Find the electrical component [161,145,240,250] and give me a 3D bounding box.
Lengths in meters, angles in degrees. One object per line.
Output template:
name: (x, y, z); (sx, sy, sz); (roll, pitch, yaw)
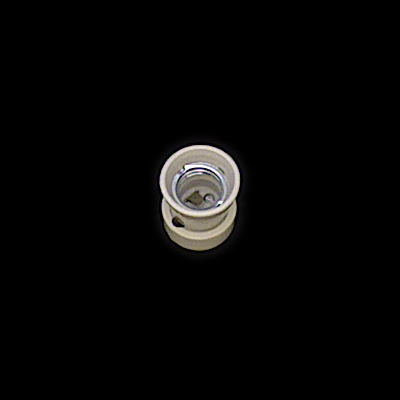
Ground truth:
electrical component: (0.000, 0.000, 0.628); (0.045, 0.045, 0.055); (0, -26, 0)
